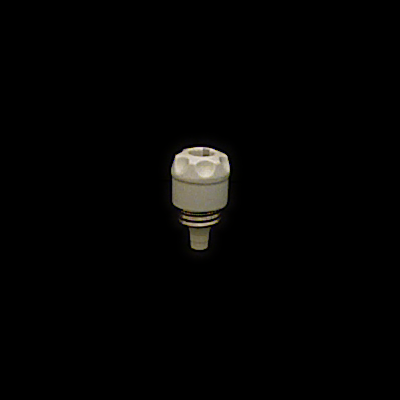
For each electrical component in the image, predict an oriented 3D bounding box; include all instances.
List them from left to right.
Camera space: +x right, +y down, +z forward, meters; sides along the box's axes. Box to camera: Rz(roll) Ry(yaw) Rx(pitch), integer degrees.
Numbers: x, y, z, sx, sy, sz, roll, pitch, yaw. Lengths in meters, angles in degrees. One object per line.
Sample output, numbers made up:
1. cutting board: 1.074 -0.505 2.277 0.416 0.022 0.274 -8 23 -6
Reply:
1. electrical component: 0.000 0.000 0.647 0.035 0.062 0.034 1 22 0
